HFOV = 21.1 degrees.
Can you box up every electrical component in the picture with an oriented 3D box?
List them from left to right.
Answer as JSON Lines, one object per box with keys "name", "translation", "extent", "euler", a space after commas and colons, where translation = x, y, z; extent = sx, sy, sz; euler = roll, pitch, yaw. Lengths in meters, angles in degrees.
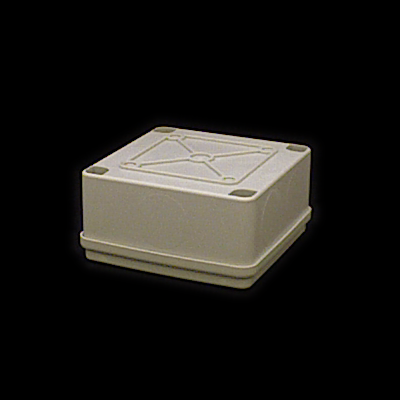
{"name": "electrical component", "translation": [0.000, 0.000, 0.637], "extent": [0.108, 0.057, 0.108], "euler": [9, 22, 22]}
